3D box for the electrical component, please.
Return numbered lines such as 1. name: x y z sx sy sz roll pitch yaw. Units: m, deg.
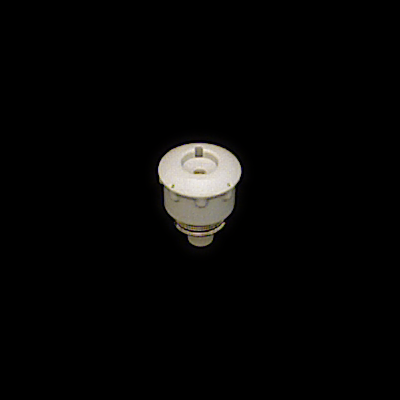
1. electrical component: 0.000 0.000 0.637 0.048 0.062 0.047 1 42 0
